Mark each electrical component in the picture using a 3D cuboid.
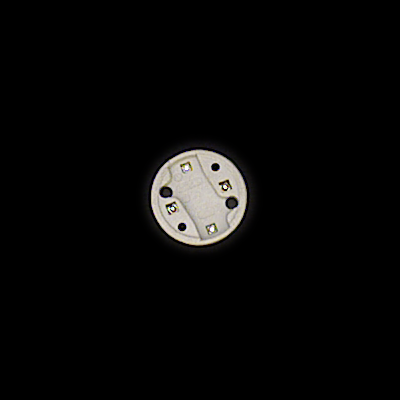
[{"bbox_3d":[0.000,0.000,0.636,0.055,0.055,0.047,0,-6,0],"label":"electrical component"}]
